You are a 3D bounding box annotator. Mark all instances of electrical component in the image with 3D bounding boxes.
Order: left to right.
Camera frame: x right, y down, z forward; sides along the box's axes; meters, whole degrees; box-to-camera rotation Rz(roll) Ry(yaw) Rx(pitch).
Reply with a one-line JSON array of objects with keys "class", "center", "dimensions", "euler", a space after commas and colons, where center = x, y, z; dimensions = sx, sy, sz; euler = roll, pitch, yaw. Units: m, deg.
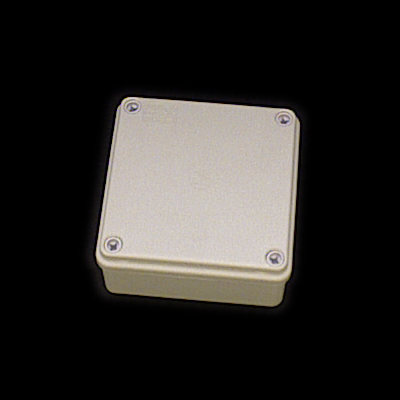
[{"class": "electrical component", "center": [0.000, 0.000, 0.628], "dimensions": [0.109, 0.109, 0.056], "euler": [5, -27, 2]}]
